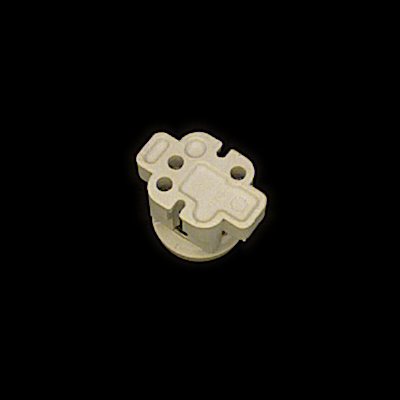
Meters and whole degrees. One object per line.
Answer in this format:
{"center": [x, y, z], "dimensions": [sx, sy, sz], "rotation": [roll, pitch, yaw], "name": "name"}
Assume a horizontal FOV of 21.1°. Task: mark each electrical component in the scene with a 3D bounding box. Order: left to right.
{"center": [0.000, 0.000, 0.636], "dimensions": [0.078, 0.058, 0.057], "rotation": [32, -23, 13], "name": "electrical component"}
